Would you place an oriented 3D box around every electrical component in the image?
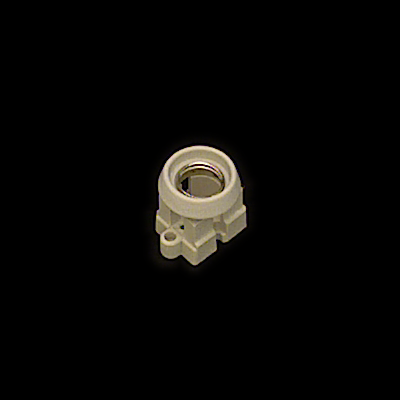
[{"bbox_3d":[0.000,0.000,0.639,0.067,0.048,0.056,-38,-26,-25],"label":"electrical component"}]
